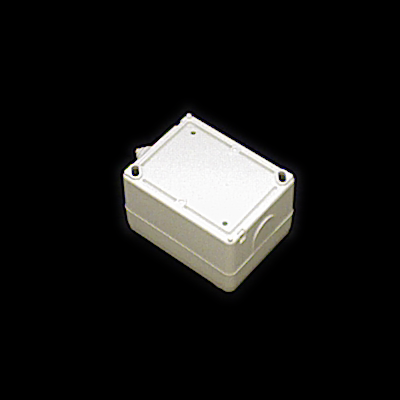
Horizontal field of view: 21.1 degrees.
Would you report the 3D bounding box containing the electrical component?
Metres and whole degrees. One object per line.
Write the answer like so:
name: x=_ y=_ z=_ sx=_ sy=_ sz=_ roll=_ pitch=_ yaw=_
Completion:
electrical component: x=0.000 y=0.000 z=0.630 sx=0.095 sy=0.062 sz=0.061 roll=32 pitch=-31 yaw=22
